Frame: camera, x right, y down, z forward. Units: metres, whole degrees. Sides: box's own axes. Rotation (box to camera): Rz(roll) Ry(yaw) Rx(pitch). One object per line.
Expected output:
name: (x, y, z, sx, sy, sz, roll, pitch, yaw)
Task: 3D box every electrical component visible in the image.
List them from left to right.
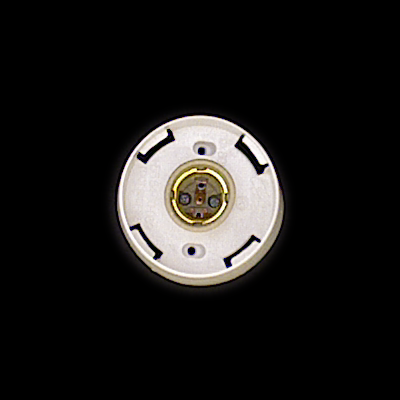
electrical component: (0.000, 0.000, 0.625, 0.099, 0.099, 0.064, 0, -7, 0)
